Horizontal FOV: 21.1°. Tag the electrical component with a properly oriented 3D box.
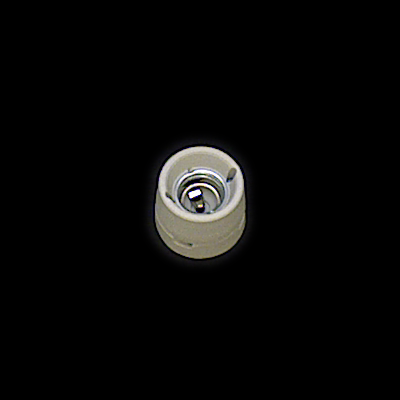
[{"bbox_3d":[0.000,0.000,0.633,0.055,0.055,0.047,0,-27,-1],"label":"electrical component"}]
